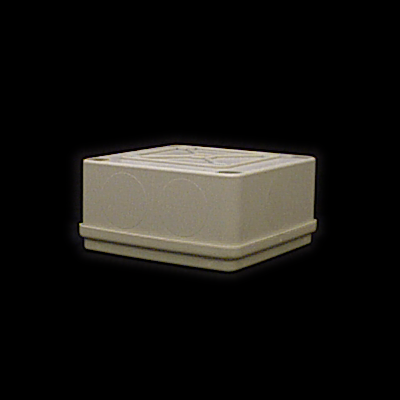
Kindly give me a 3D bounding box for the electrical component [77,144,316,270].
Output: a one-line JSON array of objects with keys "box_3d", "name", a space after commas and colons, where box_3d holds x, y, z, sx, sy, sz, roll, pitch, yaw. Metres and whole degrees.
[{"box_3d": [0.000, 0.000, 0.646, 0.108, 0.056, 0.108, 7, 11, 30], "name": "electrical component"}]
